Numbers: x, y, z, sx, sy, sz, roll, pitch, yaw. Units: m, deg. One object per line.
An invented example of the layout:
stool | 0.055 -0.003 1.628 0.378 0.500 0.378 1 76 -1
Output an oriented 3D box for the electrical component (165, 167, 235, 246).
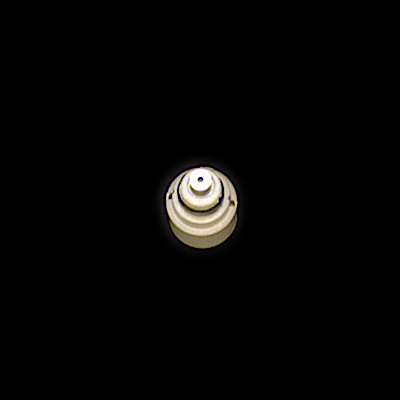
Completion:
electrical component | 0.000 0.000 0.617 0.040 0.040 0.078 0 -16 1
